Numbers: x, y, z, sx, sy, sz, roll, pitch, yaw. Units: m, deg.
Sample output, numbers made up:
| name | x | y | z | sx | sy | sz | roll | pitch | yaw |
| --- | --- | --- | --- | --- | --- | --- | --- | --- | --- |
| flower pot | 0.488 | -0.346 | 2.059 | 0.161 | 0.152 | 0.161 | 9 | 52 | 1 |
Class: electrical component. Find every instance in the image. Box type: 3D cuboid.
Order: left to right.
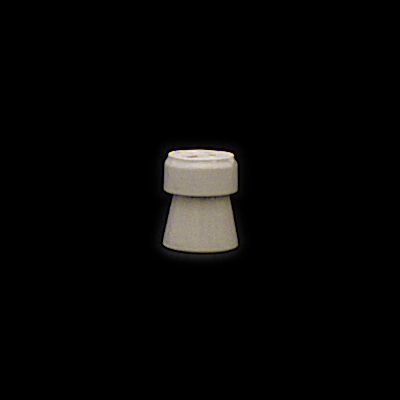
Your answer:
| name | x | y | z | sx | sy | sz | roll | pitch | yaw |
| --- | --- | --- | --- | --- | --- | --- | --- | --- | --- |
| electrical component | 0.000 | 0.000 | 0.643 | 0.045 | 0.055 | 0.044 | 1 | 11 | 0 |
